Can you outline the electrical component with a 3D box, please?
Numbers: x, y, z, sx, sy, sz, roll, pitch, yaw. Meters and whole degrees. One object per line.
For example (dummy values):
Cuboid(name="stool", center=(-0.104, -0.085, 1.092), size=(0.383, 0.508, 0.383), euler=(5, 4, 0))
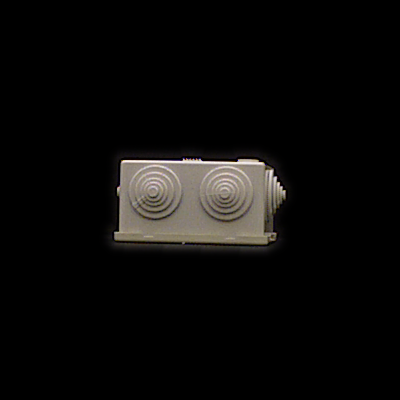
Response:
Cuboid(name="electrical component", center=(0.000, 0.000, 0.650), size=(0.099, 0.048, 0.099), euler=(1, 0, 7))
